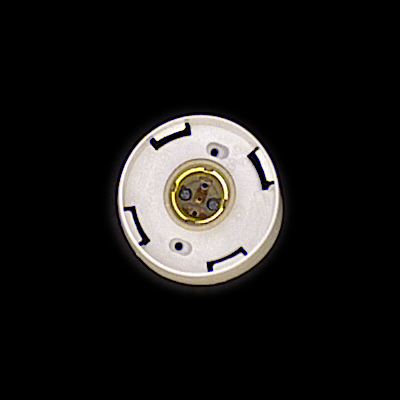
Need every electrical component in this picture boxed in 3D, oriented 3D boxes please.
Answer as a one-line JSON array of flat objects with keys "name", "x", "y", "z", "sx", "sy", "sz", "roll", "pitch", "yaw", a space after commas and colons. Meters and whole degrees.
[{"name": "electrical component", "x": 0.000, "y": 0.000, "z": 0.625, "sx": 0.099, "sy": 0.099, "sz": 0.064, "roll": 0, "pitch": -7, "yaw": 0}]
